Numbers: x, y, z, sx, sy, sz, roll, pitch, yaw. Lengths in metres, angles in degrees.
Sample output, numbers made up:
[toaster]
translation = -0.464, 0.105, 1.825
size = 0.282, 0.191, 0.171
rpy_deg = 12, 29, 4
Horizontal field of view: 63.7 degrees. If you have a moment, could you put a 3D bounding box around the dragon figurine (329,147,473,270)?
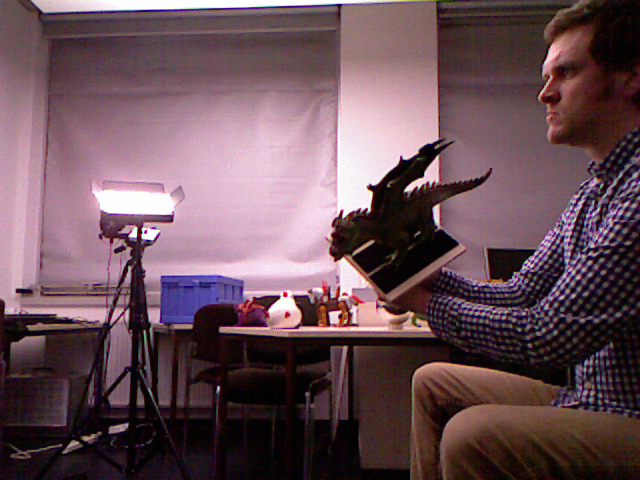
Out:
[dragon figurine]
translation = 0.166, -0.076, 0.957
size = 0.416, 0.124, 0.238
rpy_deg = -36, -24, -21
